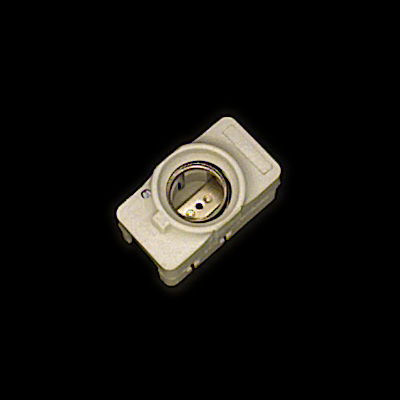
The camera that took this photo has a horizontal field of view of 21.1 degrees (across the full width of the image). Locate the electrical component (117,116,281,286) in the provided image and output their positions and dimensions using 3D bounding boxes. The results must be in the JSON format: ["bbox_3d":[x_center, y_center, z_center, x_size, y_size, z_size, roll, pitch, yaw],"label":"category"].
[{"bbox_3d":[0.000,0.000,0.636,0.090,0.050,0.055,-42,-12,-11],"label":"electrical component"}]
